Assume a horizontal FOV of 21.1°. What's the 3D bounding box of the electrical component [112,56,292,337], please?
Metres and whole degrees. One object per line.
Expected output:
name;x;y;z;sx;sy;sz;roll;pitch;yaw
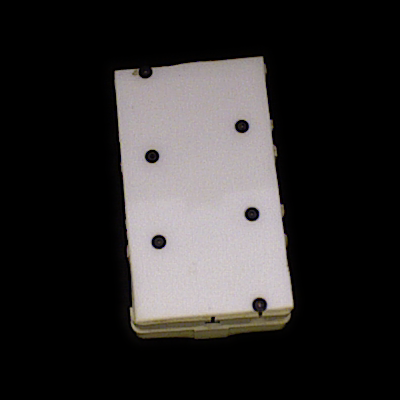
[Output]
electrical component;0.000;0.000;0.629;0.089;0.150;0.062;-5;-16;-1
